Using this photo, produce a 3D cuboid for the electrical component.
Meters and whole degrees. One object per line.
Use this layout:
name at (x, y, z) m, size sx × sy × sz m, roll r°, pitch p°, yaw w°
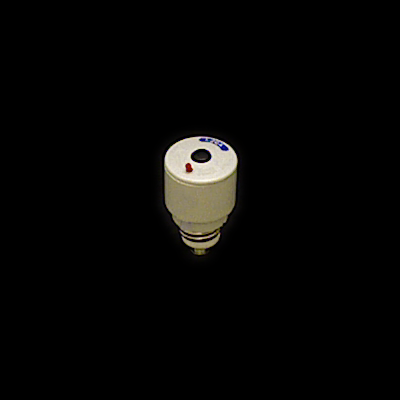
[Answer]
electrical component at (0.000, 0.000, 0.623) m, size 0.040 × 0.079 × 0.039 m, roll 0°, pitch 42°, yaw 0°
